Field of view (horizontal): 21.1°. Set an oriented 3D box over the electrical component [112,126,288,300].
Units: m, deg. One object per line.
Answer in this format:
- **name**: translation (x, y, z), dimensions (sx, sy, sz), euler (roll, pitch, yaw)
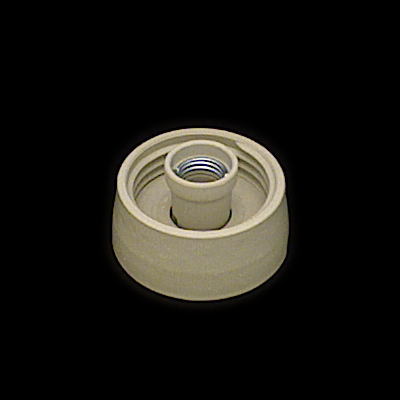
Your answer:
- **electrical component**: translation (0.000, 0.000, 0.638), dimensions (0.108, 0.061, 0.107), euler (1, 42, 0)
